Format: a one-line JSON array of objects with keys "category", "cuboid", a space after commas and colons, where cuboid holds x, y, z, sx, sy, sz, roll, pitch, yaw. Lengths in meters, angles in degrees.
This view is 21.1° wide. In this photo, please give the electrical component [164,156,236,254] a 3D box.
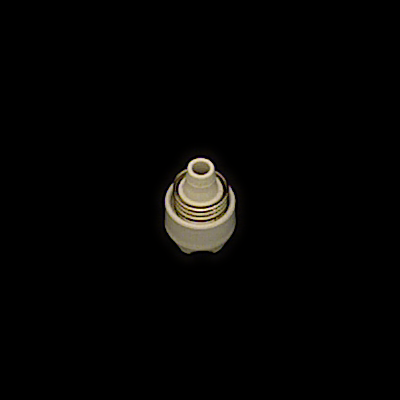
[{"category": "electrical component", "cuboid": [0.000, 0.000, 0.636, 0.043, 0.043, 0.062, 0, -38, -1]}]
